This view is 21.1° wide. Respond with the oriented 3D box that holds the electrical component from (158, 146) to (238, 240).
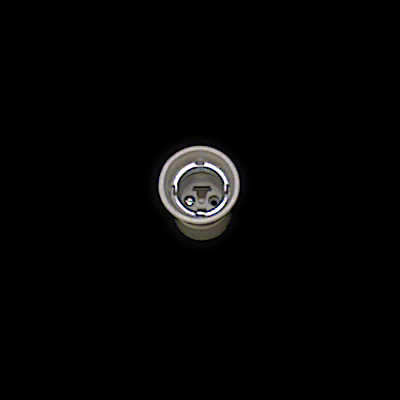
[{"bbox_3d":[0.000,0.000,0.624,0.044,0.044,0.065,0,-16,2],"label":"electrical component"}]
